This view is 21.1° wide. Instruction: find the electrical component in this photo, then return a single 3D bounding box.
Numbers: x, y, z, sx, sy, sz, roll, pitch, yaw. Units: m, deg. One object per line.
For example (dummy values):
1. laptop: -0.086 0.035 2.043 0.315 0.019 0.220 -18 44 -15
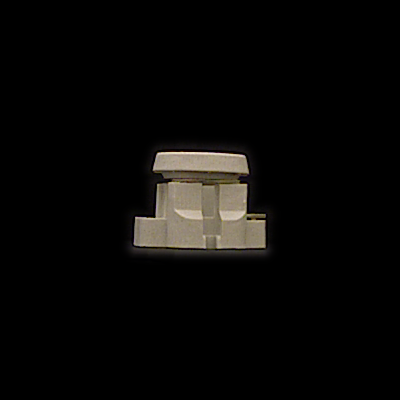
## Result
1. electrical component: 0.000 0.000 0.651 0.079 0.057 0.057 1 1 -15
